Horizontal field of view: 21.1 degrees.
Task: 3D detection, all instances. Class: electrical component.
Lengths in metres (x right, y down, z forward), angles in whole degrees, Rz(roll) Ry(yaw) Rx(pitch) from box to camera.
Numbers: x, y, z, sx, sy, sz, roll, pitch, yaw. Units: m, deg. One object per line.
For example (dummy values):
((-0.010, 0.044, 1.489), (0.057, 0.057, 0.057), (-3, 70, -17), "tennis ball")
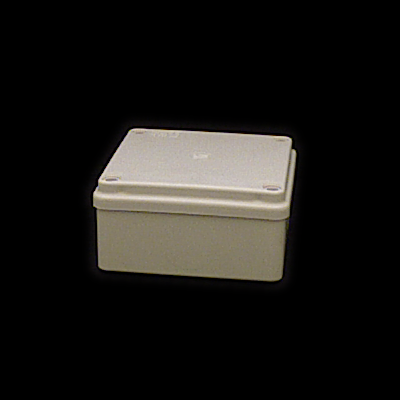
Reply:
((0.000, 0.000, 0.638), (0.109, 0.057, 0.107), (3, 21, 6), "electrical component")
